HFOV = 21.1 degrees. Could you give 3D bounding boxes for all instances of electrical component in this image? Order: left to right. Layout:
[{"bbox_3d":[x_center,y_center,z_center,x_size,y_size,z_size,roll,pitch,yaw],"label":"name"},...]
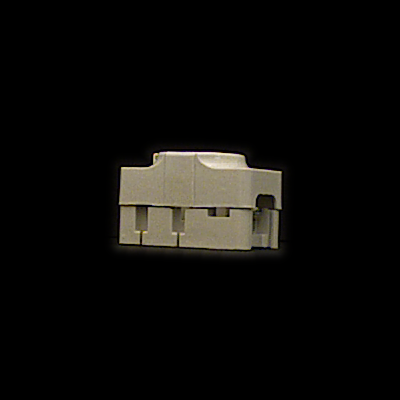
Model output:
[{"bbox_3d":[0.000,0.000,0.657,0.089,0.056,0.050,2,2,29],"label":"electrical component"}]
